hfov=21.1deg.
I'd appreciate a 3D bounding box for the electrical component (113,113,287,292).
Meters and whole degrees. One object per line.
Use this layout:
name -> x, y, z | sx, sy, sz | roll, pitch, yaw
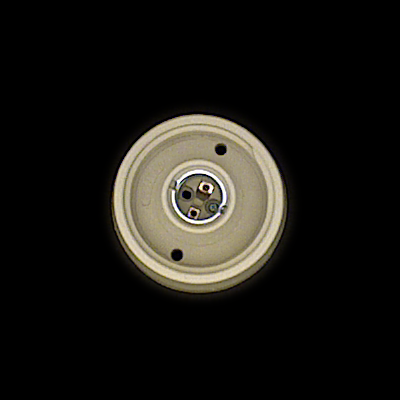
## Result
electrical component -> 0.000, 0.000, 0.635 | 0.108, 0.108, 0.060 | 0, -6, 0
